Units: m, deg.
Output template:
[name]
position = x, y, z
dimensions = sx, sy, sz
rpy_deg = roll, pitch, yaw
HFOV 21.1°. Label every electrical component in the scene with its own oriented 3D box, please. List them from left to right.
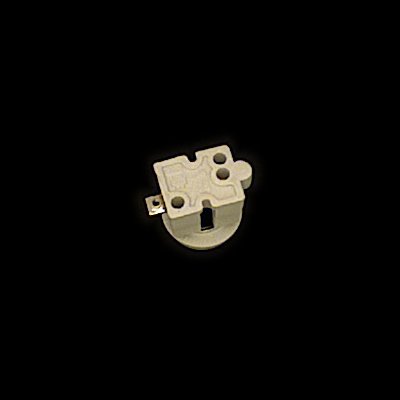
[electrical component]
position = 0.000, 0.000, 0.638
dimensions = 0.067, 0.048, 0.055
rpy_deg = -14, -25, -6
